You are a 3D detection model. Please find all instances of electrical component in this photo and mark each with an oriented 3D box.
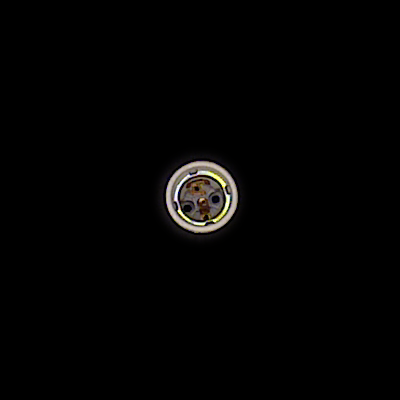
[{"bbox_3d":[0.000,0.000,0.627,0.040,0.040,0.046,0,-6,0],"label":"electrical component"}]
